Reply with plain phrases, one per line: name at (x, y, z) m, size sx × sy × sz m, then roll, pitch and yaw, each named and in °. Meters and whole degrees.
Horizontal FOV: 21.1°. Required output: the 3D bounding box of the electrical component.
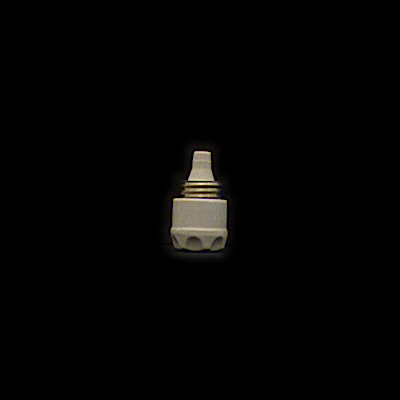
electrical component at (0.000, 0.000, 0.663) m, size 0.035 × 0.061 × 0.035 m, roll 3°, pitch 2°, yaw 0°
